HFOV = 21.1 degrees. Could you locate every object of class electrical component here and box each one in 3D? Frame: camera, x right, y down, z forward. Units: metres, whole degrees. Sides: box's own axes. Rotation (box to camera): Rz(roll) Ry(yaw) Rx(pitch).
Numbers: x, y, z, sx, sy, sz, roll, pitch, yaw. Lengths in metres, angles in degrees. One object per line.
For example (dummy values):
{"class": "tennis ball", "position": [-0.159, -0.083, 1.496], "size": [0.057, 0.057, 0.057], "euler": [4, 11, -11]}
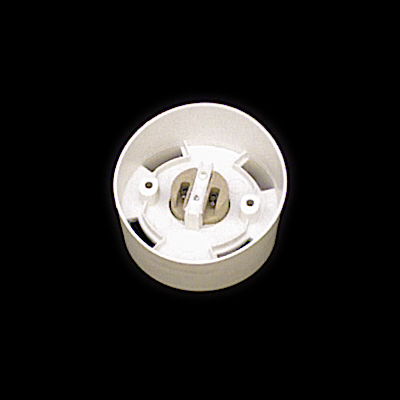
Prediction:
{"class": "electrical component", "position": [0.000, 0.000, 0.626], "size": [0.099, 0.098, 0.064], "euler": [0, -38, 0]}
